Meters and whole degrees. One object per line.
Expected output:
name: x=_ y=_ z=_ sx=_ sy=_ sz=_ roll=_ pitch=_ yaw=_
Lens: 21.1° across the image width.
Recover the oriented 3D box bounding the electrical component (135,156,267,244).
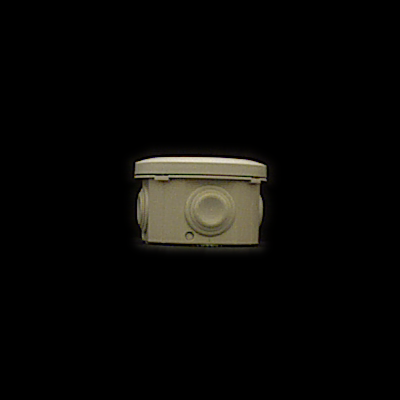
electrical component: x=0.000 y=0.000 z=0.651 sx=0.080 sy=0.051 sz=0.080 roll=1 pitch=0 yaw=0
